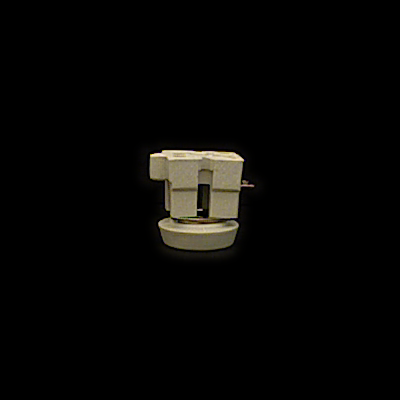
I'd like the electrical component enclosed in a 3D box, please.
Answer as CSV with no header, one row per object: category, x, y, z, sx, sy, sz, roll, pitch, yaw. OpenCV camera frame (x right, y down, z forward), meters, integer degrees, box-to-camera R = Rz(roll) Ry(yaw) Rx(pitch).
electrical component,0.000,0.000,0.650,0.067,0.056,0.048,0,11,-10
